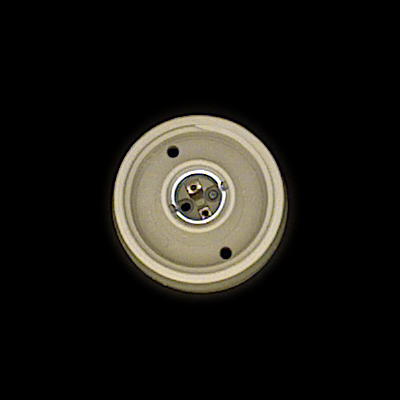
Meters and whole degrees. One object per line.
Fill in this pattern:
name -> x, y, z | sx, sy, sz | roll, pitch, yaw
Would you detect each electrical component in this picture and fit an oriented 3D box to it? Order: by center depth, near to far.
electrical component -> 0.000, 0.000, 0.635 | 0.108, 0.108, 0.060 | 0, -6, 0
